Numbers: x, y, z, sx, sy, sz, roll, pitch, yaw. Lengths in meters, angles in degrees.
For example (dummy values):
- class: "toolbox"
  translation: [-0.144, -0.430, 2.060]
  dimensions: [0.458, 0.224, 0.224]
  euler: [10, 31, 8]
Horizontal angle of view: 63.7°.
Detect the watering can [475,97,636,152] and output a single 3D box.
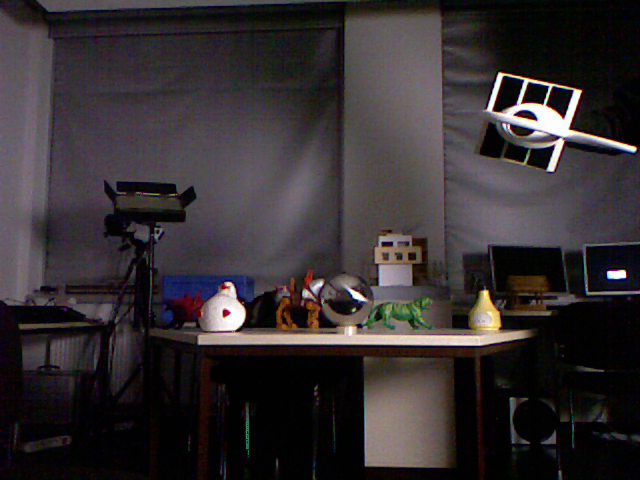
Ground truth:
- class: "watering can"
  translation: [0.544, -0.272, 1.241]
  dimensions: [0.349, 0.102, 0.228]
  euler: [15, 22, 7]
